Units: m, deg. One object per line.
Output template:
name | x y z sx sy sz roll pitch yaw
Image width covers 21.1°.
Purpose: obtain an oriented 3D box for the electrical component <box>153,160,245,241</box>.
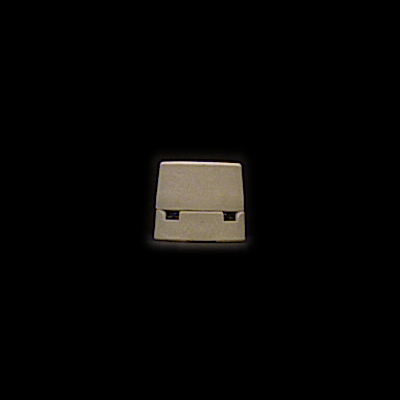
electrical component | 0.000 0.000 0.649 0.055 0.047 0.055 1 2 0
